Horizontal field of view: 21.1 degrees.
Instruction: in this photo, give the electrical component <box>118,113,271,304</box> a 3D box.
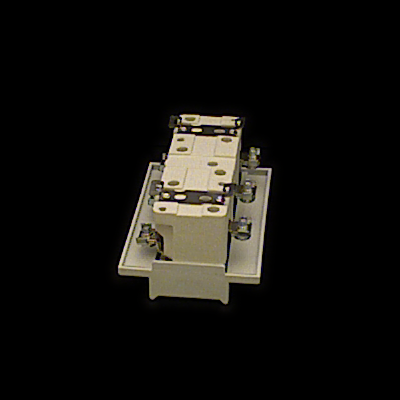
[{"bbox_3d":[0.000,0.000,0.640,0.078,0.064,0.120,3,32,5],"label":"electrical component"}]
